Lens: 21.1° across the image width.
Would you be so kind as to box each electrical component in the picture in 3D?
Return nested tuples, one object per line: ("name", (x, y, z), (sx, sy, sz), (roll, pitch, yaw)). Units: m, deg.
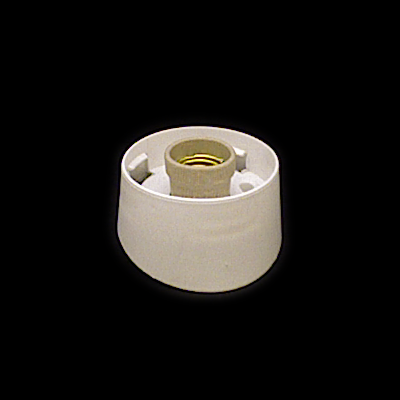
("electrical component", (0.000, 0.000, 0.634), (0.099, 0.065, 0.097), (1, 32, 0))
